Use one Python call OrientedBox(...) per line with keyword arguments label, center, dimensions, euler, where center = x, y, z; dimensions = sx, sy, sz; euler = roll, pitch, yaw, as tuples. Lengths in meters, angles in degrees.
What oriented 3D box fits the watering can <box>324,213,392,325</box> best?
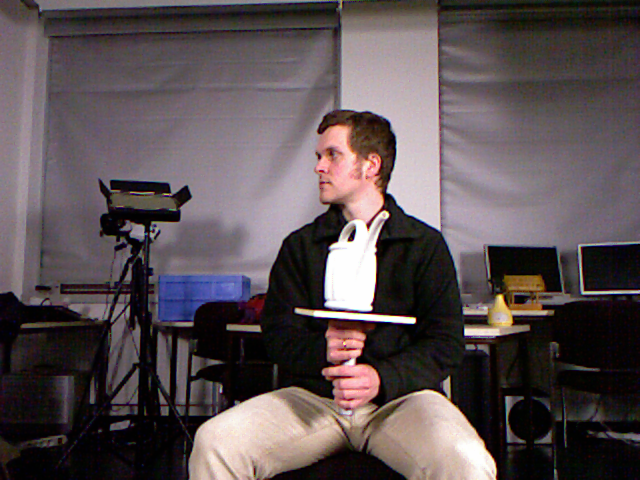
OrientedBox(label="watering can", center=(0.072, 0.059, 1.042), dimensions=(0.104, 0.226, 0.346), euler=(3, -6, -11))
